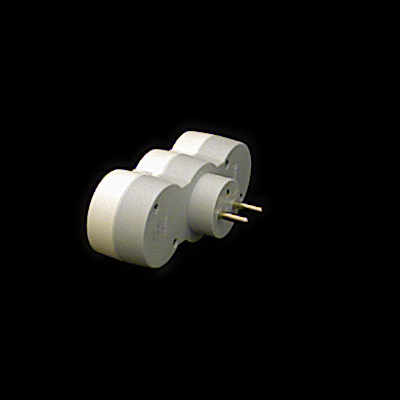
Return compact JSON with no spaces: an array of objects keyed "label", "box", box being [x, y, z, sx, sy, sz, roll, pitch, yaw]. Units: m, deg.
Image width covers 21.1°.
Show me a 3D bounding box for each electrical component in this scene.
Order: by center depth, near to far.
[{"label":"electrical component","box":[0.000,0.000,0.645,0.073,0.053,0.138,14,25,25]}]
